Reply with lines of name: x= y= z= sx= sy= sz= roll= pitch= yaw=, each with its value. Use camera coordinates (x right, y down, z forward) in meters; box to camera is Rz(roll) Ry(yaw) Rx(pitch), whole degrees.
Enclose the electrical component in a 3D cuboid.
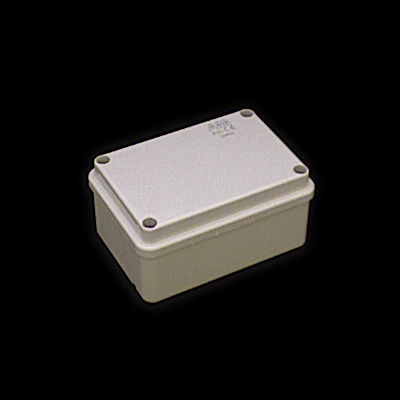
electrical component: x=0.000 y=0.000 z=0.632 sx=0.113 sy=0.057 sz=0.077 roll=-20 pitch=46 yaw=-21
